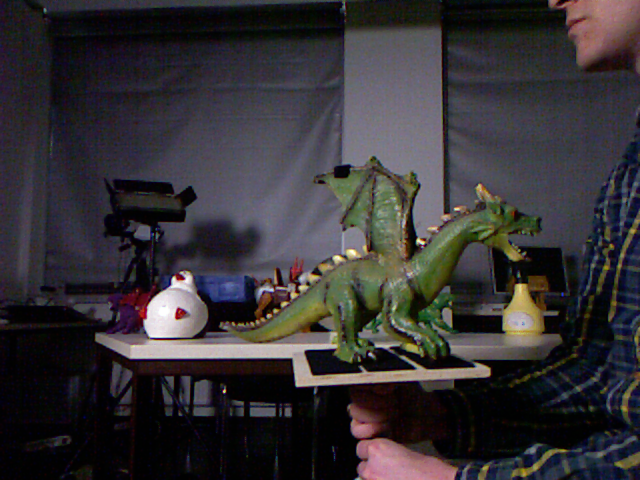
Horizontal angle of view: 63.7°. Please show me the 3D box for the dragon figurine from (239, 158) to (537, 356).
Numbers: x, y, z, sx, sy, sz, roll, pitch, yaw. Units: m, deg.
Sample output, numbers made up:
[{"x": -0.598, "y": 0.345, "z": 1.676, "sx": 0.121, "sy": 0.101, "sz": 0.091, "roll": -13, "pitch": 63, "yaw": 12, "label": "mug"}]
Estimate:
[{"x": 0.050, "y": 0.021, "z": 0.642, "sx": 0.409, "sy": 0.244, "sz": 0.122, "roll": -4, "pitch": -5, "yaw": 29, "label": "dragon figurine"}]
